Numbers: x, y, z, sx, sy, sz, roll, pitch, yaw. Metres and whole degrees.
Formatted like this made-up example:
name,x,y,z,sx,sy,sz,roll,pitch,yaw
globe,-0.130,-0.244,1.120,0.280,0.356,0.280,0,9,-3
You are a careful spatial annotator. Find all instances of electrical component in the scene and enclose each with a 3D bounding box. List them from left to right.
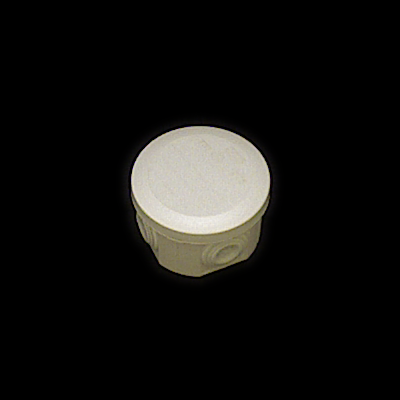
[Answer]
name,x,y,z,sx,sy,sz,roll,pitch,yaw
electrical component,0.000,0.000,0.630,0.080,0.080,0.051,0,-38,0
